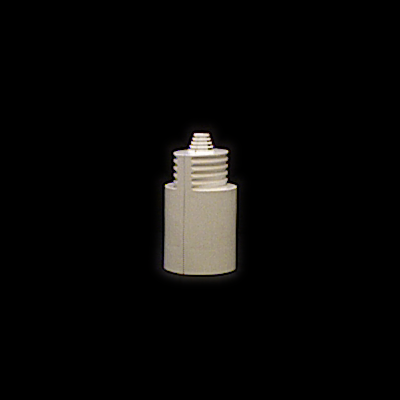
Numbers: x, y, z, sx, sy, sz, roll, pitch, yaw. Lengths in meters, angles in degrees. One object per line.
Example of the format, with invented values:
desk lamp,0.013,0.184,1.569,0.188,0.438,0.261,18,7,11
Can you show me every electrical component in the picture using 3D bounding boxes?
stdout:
electrical component,0.000,0.000,0.643,0.043,0.081,0.043,1,11,0
